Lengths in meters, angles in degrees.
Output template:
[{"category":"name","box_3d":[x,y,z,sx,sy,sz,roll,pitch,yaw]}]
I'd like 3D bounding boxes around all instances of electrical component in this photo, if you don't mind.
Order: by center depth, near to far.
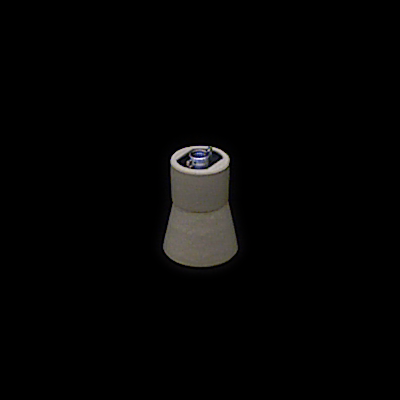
[{"category":"electrical component","box_3d":[0.000,0.000,0.634,0.044,0.066,0.044,0,31,0]}]
